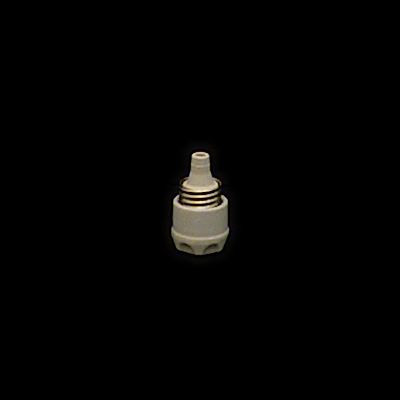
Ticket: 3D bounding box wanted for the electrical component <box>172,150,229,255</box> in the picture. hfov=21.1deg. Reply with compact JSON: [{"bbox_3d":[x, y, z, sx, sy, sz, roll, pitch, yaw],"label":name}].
[{"bbox_3d":[0.000,0.000,0.652,0.035,0.062,0.034,0,23,0],"label":"electrical component"}]
